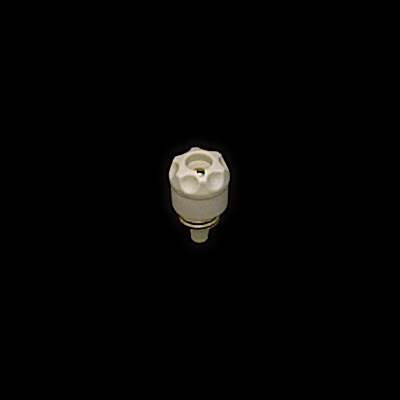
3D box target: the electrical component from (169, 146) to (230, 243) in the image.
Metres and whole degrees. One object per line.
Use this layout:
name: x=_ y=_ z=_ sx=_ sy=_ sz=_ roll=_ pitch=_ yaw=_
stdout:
electrical component: x=0.000 y=0.000 z=0.636 sx=0.035 sy=0.062 sz=0.035 roll=0 pitch=43 yaw=0
